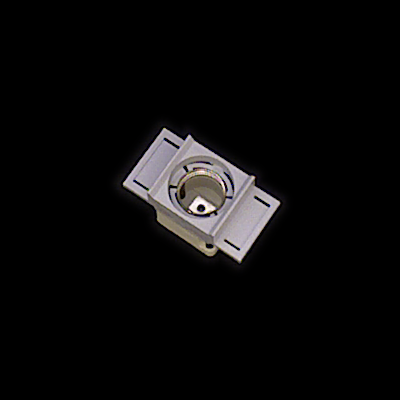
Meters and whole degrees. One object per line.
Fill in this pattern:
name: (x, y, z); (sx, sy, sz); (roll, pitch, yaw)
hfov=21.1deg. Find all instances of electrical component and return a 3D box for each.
electrical component: (0.000, 0.000, 0.623); (0.081, 0.042, 0.063); (34, -15, 10)
